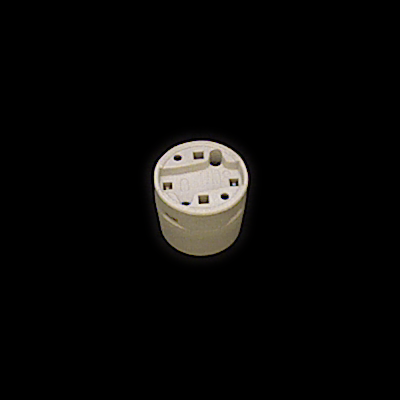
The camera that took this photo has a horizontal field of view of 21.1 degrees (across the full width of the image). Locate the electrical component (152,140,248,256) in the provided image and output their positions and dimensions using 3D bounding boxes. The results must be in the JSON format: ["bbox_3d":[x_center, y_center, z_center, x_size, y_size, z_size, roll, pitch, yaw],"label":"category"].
[{"bbox_3d":[0.000,0.000,0.635,0.055,0.055,0.047,0,-38,0],"label":"electrical component"}]
